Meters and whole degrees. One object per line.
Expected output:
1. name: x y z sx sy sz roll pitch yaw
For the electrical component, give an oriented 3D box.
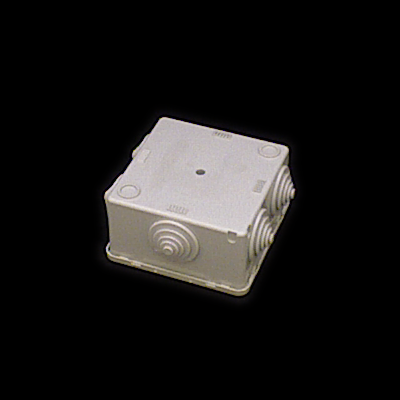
1. electrical component: 0.000 0.000 0.633 0.099 0.049 0.099 15 44 15
